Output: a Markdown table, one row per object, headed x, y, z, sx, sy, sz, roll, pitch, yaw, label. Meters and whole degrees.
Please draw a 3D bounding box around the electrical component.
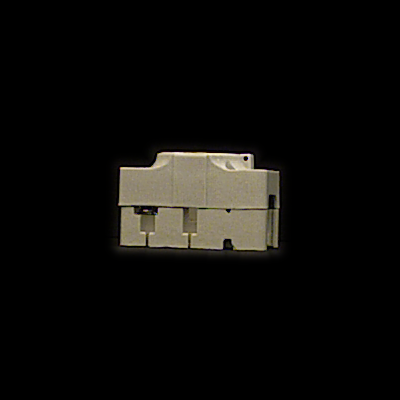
| x | y | z | sx | sy | sz | roll | pitch | yaw | label |
| --- | --- | --- | --- | --- | --- | --- | --- | --- | --- |
| 0.000 | 0.000 | 0.656 | 0.089 | 0.056 | 0.050 | 1 | 1 | 14 | electrical component |
